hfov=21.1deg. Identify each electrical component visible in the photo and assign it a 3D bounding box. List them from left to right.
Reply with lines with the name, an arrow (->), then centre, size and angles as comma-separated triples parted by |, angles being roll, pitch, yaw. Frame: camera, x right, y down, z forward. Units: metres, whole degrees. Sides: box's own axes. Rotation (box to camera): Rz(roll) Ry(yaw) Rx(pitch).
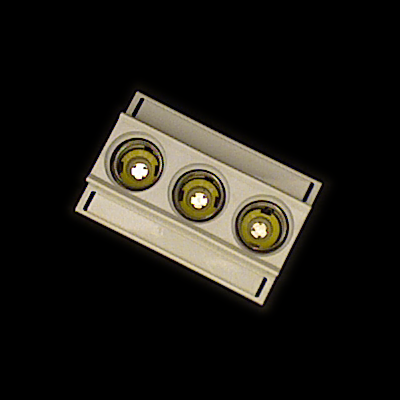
electrical component -> 0.000, 0.000, 0.637 | 0.121, 0.079, 0.063 | 27, -6, 3
